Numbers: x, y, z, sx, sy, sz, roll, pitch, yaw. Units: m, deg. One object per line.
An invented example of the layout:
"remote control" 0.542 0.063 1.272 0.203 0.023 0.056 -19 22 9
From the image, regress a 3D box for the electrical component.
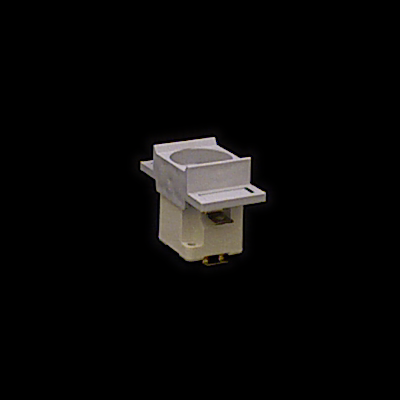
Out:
"electrical component" 0.000 0.000 0.640 0.042 0.064 0.079 -11 24 -26
